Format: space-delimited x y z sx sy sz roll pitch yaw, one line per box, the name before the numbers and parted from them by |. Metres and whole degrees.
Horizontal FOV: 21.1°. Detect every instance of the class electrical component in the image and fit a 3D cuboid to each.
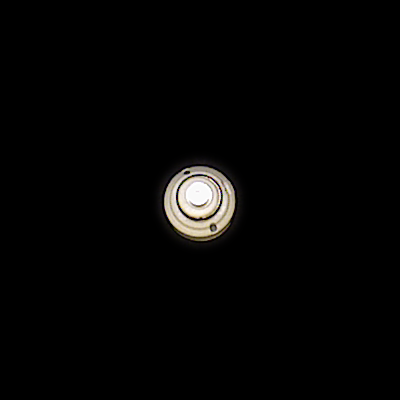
electrical component | 0.000 0.000 0.618 0.040 0.040 0.078 0 -7 1
